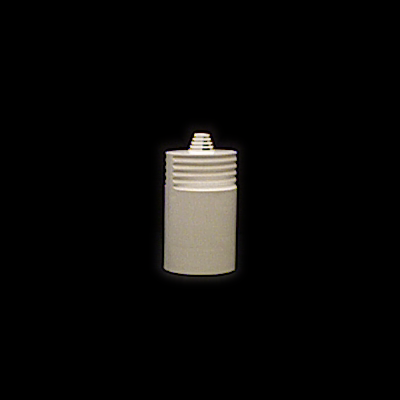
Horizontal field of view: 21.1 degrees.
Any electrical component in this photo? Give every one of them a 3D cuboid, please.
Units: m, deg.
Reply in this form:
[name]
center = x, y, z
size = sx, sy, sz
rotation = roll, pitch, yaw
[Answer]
[electrical component]
center = 0.000, 0.000, 0.643
size = 0.043, 0.081, 0.043
rotation = 1, 11, 0
